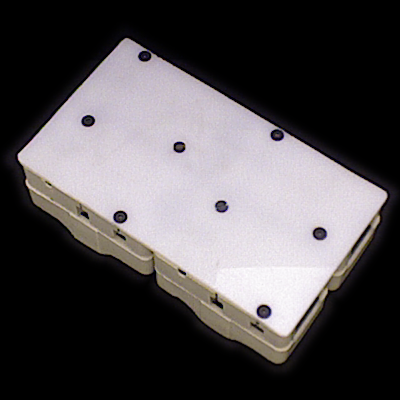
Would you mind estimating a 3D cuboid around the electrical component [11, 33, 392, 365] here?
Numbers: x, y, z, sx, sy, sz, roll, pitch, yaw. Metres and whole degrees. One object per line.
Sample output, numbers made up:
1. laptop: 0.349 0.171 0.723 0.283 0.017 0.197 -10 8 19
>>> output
1. electrical component: 0.000 0.000 0.626 0.186 0.106 0.060 32 -22 15
